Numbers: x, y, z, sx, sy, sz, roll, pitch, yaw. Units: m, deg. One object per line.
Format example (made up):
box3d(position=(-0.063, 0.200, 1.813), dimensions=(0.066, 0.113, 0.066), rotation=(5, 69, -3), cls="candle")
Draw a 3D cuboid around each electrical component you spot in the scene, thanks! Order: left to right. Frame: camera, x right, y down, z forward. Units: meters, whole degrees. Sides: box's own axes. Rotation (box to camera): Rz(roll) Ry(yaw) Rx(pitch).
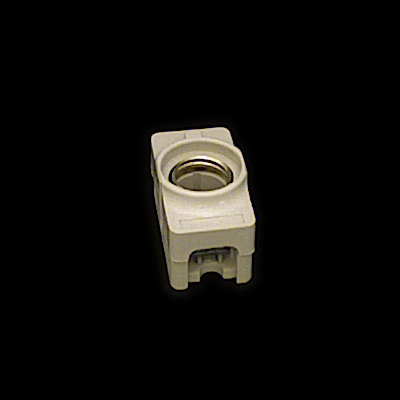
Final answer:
box3d(position=(0.000, 0.000, 0.639), dimensions=(0.050, 0.056, 0.088), rotation=(-6, 43, -7), cls="electrical component")
